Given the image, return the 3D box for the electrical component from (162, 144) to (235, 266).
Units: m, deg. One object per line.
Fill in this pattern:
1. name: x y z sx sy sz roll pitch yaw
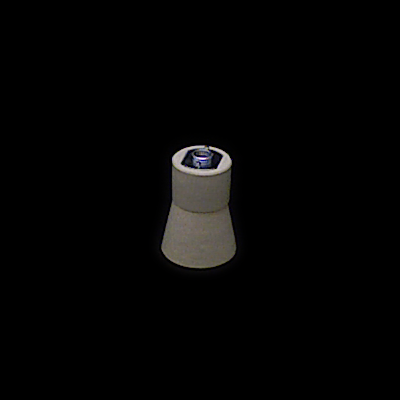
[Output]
1. electrical component: 0.000 0.000 0.632 0.044 0.066 0.044 2 32 -1
